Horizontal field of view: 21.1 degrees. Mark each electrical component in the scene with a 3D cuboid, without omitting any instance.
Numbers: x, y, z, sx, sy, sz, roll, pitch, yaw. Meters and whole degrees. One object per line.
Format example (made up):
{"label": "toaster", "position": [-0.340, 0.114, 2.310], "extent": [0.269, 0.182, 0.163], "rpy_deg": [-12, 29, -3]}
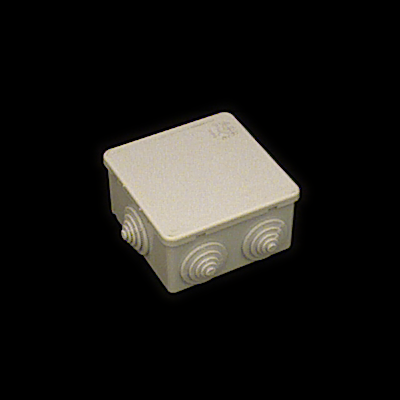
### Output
{"label": "electrical component", "position": [0.000, 0.000, 0.643], "extent": [0.100, 0.049, 0.098], "rpy_deg": [-20, 47, -21]}
